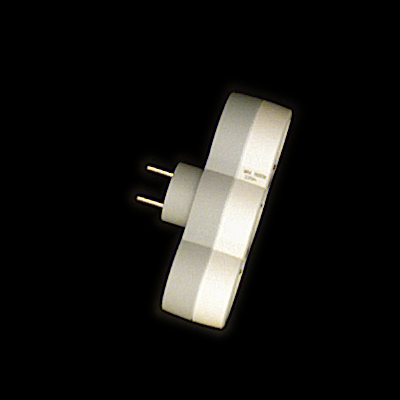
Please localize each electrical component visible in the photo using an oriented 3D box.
[{"bbox_3d":[0.000,0.000,0.639,0.073,0.138,0.052,18,-5,3],"label":"electrical component"}]
